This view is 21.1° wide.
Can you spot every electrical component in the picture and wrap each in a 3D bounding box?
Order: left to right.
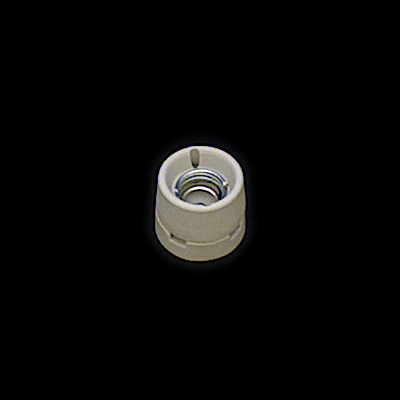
[{"bbox_3d":[0.000,0.000,0.635,0.055,0.055,0.047,0,-38,-1],"label":"electrical component"}]
